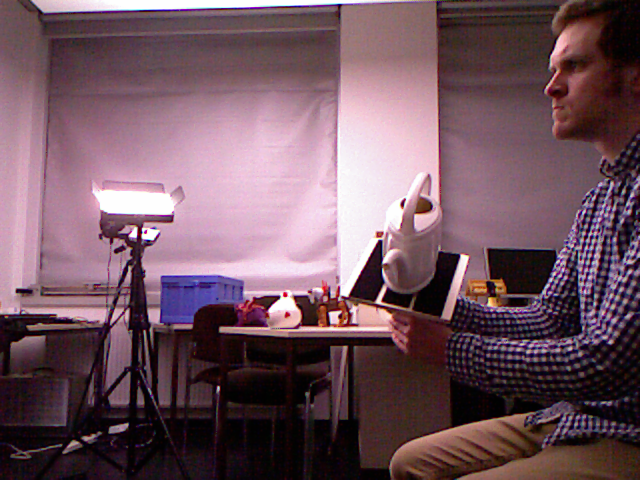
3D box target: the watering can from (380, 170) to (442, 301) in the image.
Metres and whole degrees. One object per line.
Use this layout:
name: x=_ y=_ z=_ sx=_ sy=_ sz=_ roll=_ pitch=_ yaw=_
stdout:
watering can: x=0.155 y=0.016 z=0.924 sx=0.104 sy=0.220 sz=0.356 roll=11 pitch=36 yaw=18
